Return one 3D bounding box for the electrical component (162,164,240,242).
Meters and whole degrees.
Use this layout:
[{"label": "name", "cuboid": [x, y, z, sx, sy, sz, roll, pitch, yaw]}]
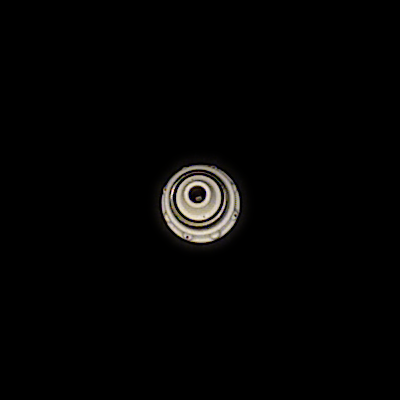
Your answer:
[{"label": "electrical component", "cuboid": [0.000, 0.000, 0.635, 0.048, 0.048, 0.061, 0, -6, 1]}]
